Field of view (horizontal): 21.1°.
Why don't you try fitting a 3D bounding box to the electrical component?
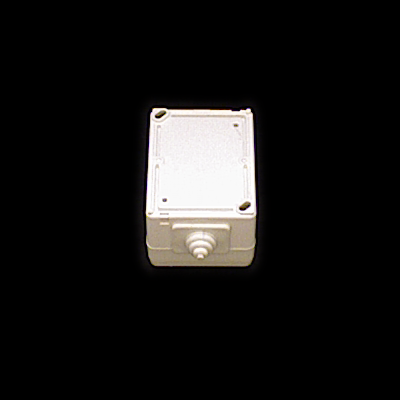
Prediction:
[{"bbox_3d":[0.000,0.000,0.628,0.062,0.096,0.061,0,-37,0],"label":"electrical component"}]
